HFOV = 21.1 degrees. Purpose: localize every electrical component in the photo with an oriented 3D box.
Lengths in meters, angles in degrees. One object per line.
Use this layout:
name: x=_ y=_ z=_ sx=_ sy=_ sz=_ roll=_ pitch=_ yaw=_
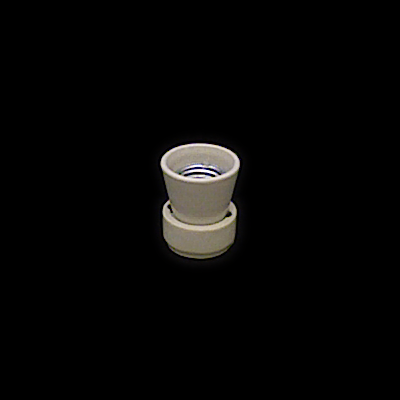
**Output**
electrical component: x=0.000 y=0.000 z=0.634 sx=0.045 sy=0.056 sz=0.044 roll=0 pitch=32 yaw=0
